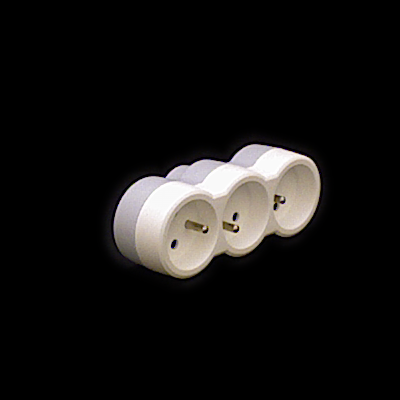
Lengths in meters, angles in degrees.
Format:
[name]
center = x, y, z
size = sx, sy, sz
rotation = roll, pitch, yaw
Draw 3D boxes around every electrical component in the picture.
[electrical component]
center = 0.000, 0.000, 0.638
size = 0.073, 0.053, 0.138
rotation = 18, 27, 42
